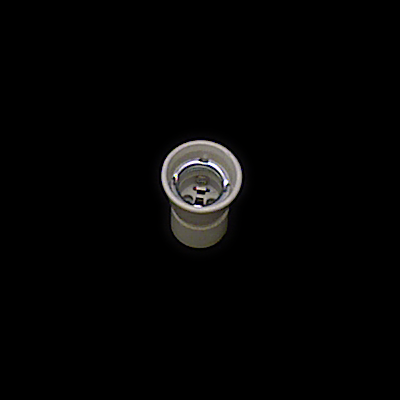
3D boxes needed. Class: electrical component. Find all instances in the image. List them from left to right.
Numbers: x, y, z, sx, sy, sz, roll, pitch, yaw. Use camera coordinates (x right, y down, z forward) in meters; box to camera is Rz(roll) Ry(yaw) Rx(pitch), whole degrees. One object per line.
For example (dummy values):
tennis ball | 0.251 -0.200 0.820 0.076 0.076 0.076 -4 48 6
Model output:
electrical component | 0.000 0.000 0.625 0.044 0.044 0.065 0 -27 -1
